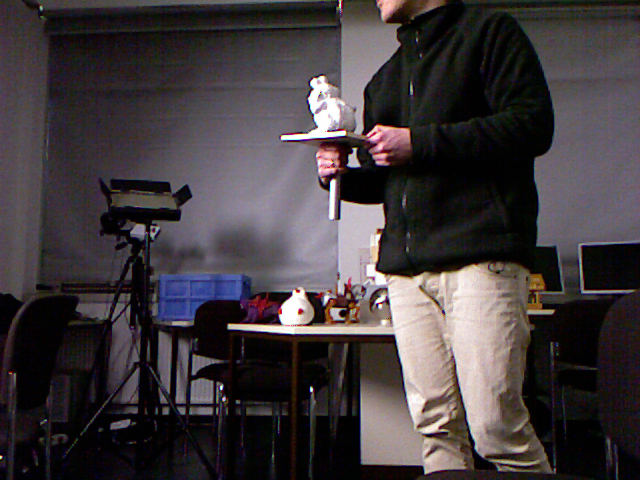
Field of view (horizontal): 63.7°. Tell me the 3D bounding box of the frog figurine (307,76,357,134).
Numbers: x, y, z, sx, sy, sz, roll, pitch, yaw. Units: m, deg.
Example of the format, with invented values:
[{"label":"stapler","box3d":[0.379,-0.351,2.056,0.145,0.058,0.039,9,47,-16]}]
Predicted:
[{"label":"frog figurine","box3d":[0.031,-0.344,1.336,0.138,0.158,0.124,-6,14,-23]}]
